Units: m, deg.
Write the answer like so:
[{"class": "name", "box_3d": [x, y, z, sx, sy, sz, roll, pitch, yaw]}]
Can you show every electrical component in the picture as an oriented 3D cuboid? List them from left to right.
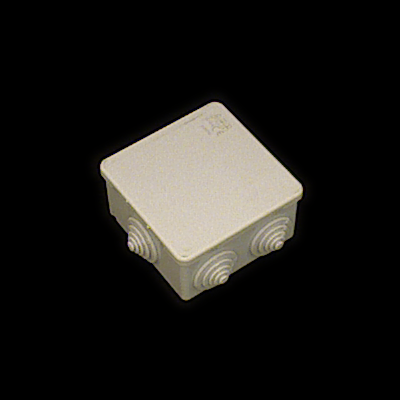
[{"class": "electrical component", "box_3d": [0.000, 0.000, 0.641, 0.100, 0.099, 0.049, -30, -31, -21]}]
